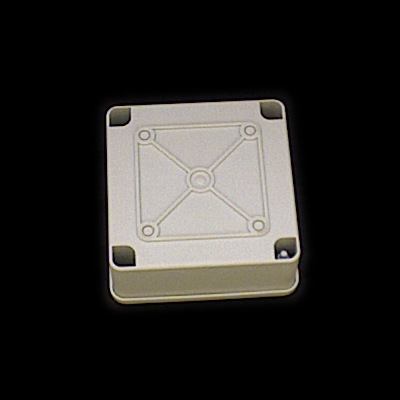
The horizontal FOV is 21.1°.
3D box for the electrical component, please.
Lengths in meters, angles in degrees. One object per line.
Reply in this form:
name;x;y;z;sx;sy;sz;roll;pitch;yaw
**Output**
electrical component;0.000;0.000;0.628;0.109;0.109;0.056;-3;-26;-2
